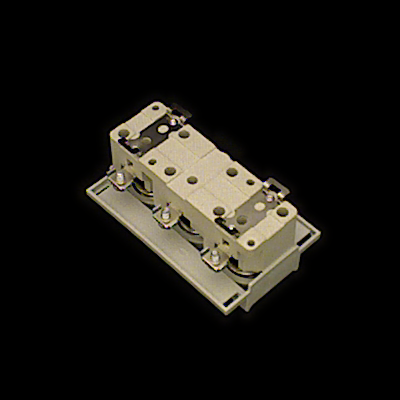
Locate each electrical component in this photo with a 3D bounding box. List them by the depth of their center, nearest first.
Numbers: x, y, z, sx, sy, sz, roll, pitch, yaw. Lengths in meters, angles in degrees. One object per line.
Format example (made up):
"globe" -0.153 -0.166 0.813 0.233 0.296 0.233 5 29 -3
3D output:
"electrical component" 0.000 0.000 0.637 0.079 0.063 0.120 -38 62 -26
